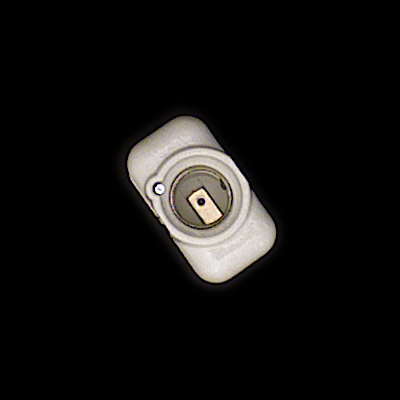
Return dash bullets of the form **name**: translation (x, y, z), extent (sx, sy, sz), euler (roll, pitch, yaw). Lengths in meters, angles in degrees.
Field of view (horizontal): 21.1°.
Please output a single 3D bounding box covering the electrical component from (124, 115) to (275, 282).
- **electrical component**: translation (0.000, 0.000, 0.635), extent (0.054, 0.095, 0.059), euler (-36, -5, -3)
